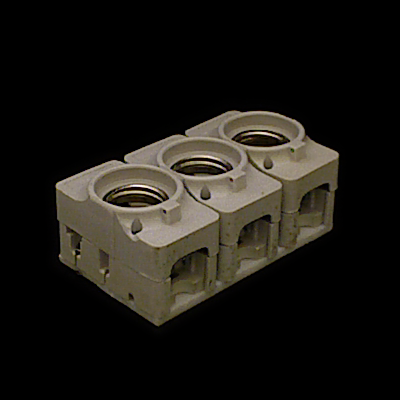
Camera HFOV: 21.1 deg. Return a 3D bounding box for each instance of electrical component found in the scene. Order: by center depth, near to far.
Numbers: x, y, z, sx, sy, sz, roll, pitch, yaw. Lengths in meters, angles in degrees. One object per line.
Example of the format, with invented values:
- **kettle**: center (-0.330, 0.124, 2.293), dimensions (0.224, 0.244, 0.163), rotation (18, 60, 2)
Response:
- **electrical component**: center (0.000, 0.000, 0.640), dimensions (0.149, 0.063, 0.088), rotation (-27, 41, -37)
